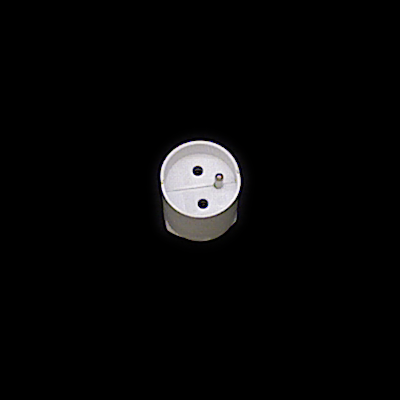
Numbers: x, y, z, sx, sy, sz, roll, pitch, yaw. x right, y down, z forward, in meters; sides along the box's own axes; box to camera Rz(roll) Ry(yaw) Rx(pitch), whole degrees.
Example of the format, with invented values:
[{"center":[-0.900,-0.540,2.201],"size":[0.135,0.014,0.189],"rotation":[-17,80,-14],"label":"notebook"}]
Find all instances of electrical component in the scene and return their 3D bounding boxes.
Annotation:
[{"center":[0.000,0.000,0.616],"size":[0.043,0.043,0.080],"rotation":[0,-16,-1],"label":"electrical component"}]
